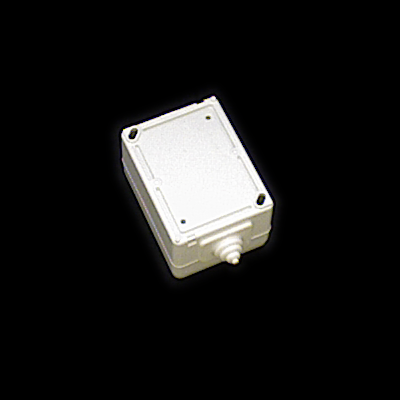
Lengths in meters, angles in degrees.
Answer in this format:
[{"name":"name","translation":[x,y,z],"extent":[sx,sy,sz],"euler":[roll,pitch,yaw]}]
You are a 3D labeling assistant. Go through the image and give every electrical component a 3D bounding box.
[{"name":"electrical component","translation":[-0.001,0.000,0.623],"extent":[0.062,0.097,0.060],"euler":[-22,-26,-11]}]
